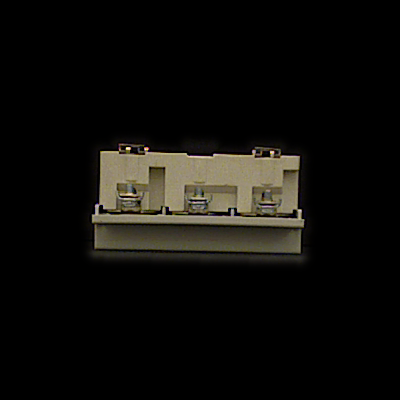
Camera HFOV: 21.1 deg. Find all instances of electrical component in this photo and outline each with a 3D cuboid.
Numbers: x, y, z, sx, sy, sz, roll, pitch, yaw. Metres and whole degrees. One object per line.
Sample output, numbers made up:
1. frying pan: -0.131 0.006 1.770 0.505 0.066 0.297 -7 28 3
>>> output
1. electrical component: -0.001 0.000 0.654 0.121 0.063 0.078 1 1 0
